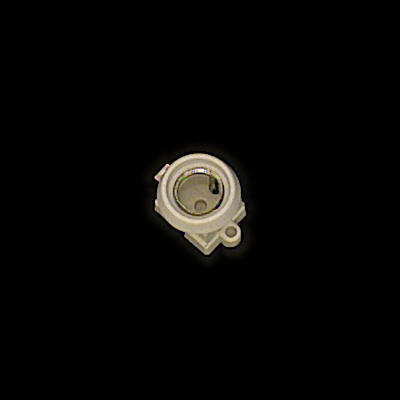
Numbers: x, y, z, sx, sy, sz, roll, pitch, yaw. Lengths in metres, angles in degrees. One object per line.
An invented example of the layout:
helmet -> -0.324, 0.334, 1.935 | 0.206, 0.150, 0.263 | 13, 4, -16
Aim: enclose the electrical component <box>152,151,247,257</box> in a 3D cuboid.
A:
electrical component -> 0.000, 0.000, 0.637 | 0.066, 0.049, 0.055 | 40, -14, 10
